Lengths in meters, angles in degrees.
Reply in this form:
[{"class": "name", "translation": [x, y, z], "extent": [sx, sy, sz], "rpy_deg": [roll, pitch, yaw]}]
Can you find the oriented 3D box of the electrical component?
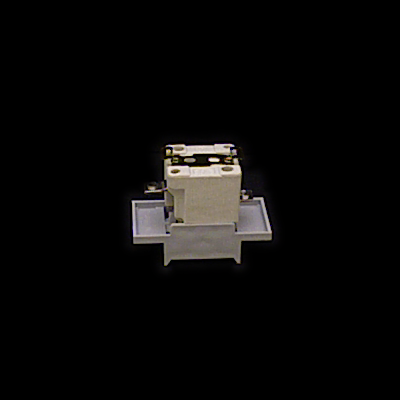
[{"class": "electrical component", "translation": [0.000, 0.000, 0.634], "extent": [0.081, 0.064, 0.041], "rpy_deg": [-2, 31, -5]}]
